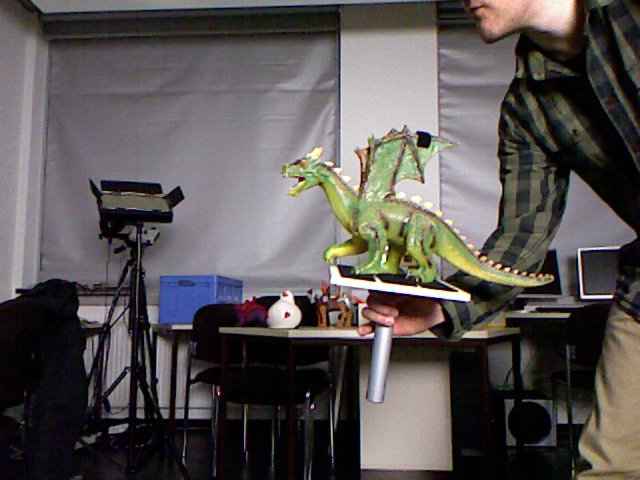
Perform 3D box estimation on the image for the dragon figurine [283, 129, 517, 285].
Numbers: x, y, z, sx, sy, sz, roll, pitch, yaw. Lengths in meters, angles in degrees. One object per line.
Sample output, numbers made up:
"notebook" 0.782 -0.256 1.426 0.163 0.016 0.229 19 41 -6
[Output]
"dragon figurine" 0.139 -0.061 0.844 0.411 0.242 0.123 6 3 -8
